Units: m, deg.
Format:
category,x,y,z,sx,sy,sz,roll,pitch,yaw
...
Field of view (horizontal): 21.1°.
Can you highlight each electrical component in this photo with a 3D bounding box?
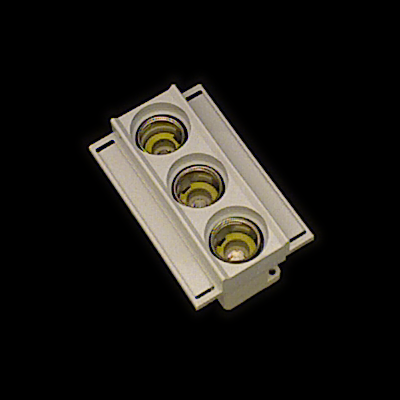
category,x,y,z,sx,sy,sz,roll,pitch,yaw
electrical component,0.000,0.000,0.637,0.079,0.121,0.063,-30,-23,-12
